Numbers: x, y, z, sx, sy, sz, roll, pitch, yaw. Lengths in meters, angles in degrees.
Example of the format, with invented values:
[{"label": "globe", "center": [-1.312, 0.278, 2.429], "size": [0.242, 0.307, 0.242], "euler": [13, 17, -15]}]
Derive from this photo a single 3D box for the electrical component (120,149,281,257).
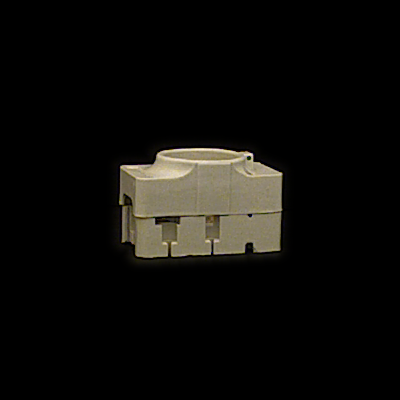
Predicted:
[{"label": "electrical component", "center": [0.000, 0.000, 0.651], "size": [0.090, 0.056, 0.049], "euler": [-3, 12, -18]}]
